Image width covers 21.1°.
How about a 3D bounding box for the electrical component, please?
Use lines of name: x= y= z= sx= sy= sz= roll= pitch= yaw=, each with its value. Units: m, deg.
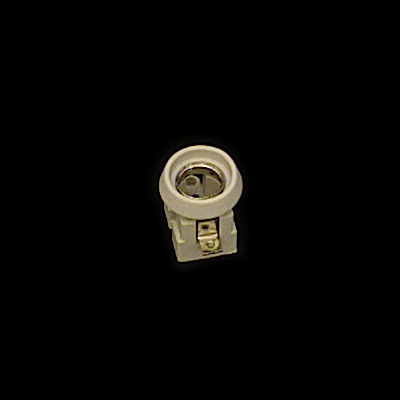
electrical component: x=0.000 y=0.000 z=0.637 sx=0.048 sy=0.066 sz=0.056 roll=-12 pitch=-36 yaw=-7
